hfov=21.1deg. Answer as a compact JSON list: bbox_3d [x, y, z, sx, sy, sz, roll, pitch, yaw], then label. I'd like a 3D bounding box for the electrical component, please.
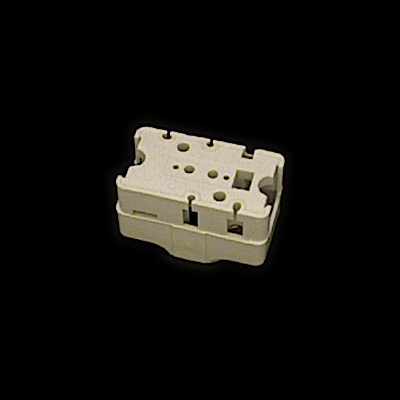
[{"bbox_3d":[0.000,0.000,0.638,0.089,0.050,0.056,13,-37,8],"label":"electrical component"}]
